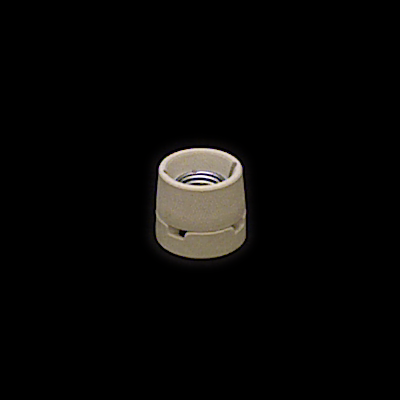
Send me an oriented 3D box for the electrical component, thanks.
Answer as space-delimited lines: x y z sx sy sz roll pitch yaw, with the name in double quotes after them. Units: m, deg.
0.000 0.000 0.638 0.055 0.047 0.055 0 31 0 "electrical component"
